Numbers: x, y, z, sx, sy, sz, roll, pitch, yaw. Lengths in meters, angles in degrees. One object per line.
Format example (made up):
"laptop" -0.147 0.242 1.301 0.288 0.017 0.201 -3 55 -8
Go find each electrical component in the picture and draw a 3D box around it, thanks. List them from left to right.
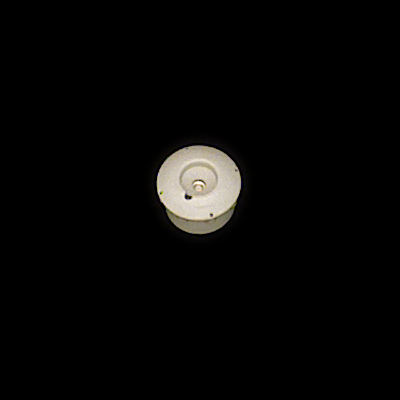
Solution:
"electrical component" 0.000 0.000 0.633 0.048 0.048 0.062 0 -26 0
